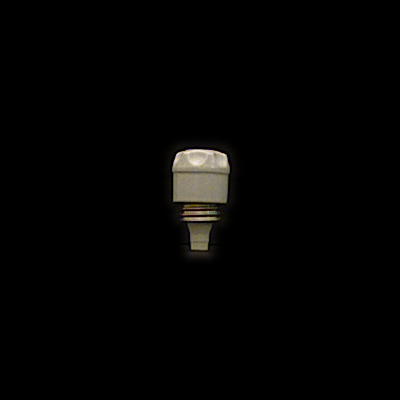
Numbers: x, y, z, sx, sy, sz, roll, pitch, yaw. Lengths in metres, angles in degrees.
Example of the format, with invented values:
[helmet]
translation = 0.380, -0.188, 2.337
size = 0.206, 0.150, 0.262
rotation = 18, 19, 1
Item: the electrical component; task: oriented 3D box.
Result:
[electrical component]
translation = 0.000, 0.000, 0.659
size = 0.035, 0.061, 0.035
rotation = 1, 1, 0
